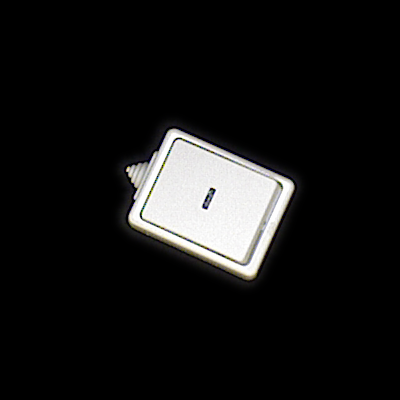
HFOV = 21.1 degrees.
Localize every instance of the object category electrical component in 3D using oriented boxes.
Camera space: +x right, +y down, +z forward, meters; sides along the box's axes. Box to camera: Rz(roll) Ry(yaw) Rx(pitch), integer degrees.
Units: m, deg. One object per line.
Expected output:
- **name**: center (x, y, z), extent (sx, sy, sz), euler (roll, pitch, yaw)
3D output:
- **electrical component**: center (0.000, 0.000, 0.627), extent (0.096, 0.062, 0.061), euler (24, -6, 3)
